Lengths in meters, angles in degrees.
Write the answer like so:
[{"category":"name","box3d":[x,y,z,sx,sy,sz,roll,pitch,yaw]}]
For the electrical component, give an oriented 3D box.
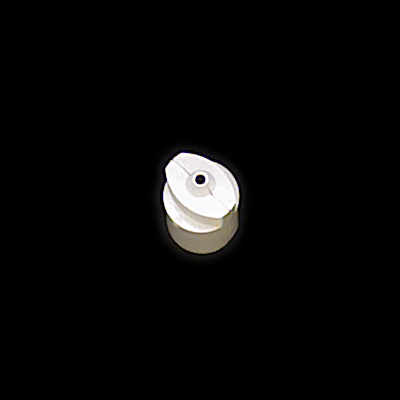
[{"category":"electrical component","box3d":[0.000,0.000,0.616,0.043,0.043,0.080,0,-17,1]}]
